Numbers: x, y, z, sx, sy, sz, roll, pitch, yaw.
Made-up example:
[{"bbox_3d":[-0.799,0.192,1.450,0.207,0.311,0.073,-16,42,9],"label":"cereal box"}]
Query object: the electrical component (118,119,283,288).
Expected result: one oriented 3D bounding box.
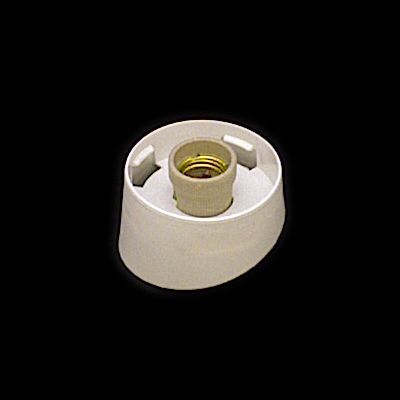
[{"bbox_3d":[0.000,0.000,0.630,0.099,0.065,0.098,0,42,0],"label":"electrical component"}]
